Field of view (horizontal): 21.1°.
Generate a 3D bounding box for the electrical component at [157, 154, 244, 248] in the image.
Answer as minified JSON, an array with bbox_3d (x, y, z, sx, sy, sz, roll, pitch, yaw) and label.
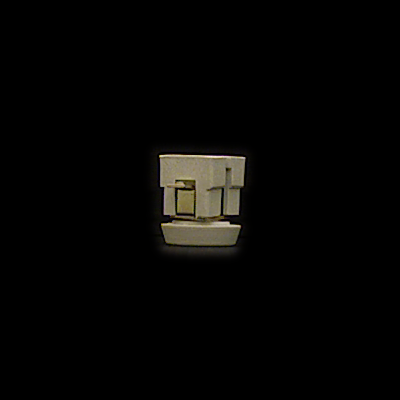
[{"bbox_3d":[0.000,0.000,0.658,0.048,0.055,0.067,4,3,29],"label":"electrical component"}]
